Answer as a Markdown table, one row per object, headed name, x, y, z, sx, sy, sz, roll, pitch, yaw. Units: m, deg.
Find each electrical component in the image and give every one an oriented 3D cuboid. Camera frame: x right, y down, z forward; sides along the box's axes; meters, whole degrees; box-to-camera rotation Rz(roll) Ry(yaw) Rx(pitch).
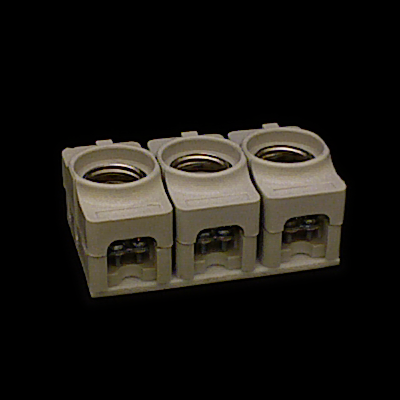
| name | x | y | z | sx | sy | sz | roll | pitch | yaw |
| --- | --- | --- | --- | --- | --- | --- | --- | --- | --- |
| electrical component | 0.000 | 0.000 | 0.641 | 0.150 | 0.063 | 0.087 | -6 | 31 | -13 |
